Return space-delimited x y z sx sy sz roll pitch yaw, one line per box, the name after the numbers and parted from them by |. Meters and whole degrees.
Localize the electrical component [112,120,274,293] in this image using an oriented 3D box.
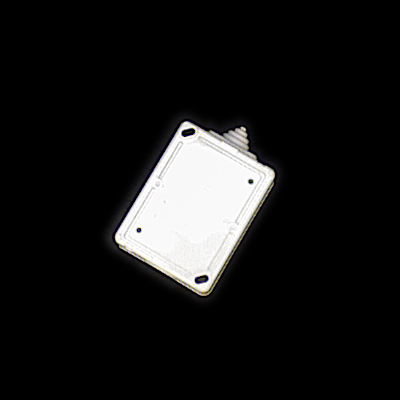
0.000 0.000 0.627 0.062 0.096 0.061 30 -6 4 | electrical component
